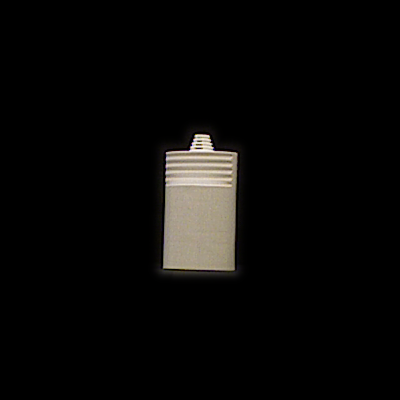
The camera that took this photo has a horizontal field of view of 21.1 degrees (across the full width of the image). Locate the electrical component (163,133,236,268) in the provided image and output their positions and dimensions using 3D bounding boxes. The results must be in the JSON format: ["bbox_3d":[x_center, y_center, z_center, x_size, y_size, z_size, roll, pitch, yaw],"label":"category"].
[{"bbox_3d":[0.000,0.000,0.649,0.043,0.081,0.043,1,1,0],"label":"electrical component"}]
